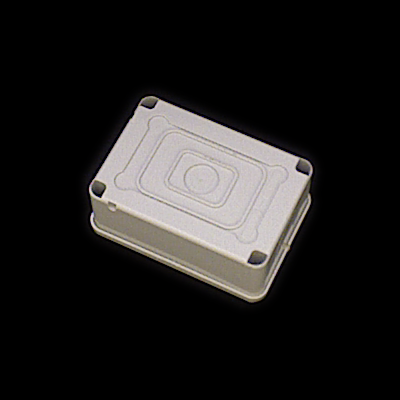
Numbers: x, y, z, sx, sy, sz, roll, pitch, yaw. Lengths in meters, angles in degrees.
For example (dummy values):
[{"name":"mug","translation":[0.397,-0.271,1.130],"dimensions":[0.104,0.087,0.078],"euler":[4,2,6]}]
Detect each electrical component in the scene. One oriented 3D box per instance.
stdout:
[{"name":"electrical component","translation":[0.000,0.000,0.628],"dimensions":[0.113,0.078,0.057],"euler":[24,-25,11]}]
